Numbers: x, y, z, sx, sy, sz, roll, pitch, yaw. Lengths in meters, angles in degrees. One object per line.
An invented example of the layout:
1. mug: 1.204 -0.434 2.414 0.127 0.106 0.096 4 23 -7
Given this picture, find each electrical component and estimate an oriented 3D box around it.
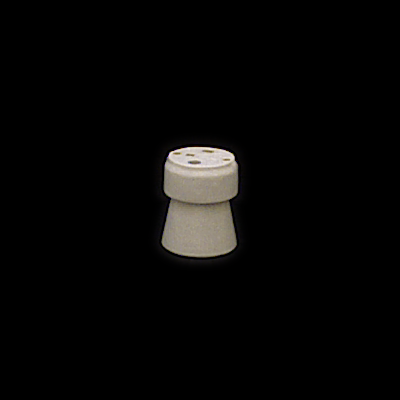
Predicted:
1. electrical component: 0.000 0.000 0.641 0.045 0.056 0.044 2 21 0
